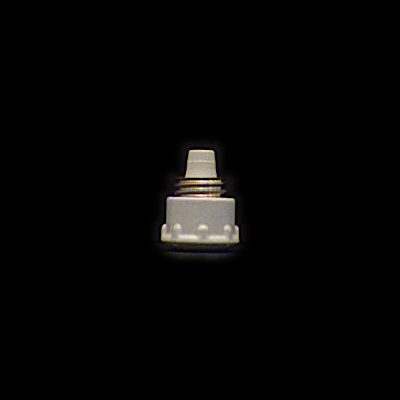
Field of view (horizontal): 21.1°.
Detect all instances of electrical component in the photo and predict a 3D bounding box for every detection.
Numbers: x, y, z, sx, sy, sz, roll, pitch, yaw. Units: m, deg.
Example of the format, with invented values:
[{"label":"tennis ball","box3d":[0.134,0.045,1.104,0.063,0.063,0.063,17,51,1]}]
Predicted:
[{"label":"electrical component","box3d":[0.000,0.000,0.657,0.048,0.062,0.048,1,1,1]}]
